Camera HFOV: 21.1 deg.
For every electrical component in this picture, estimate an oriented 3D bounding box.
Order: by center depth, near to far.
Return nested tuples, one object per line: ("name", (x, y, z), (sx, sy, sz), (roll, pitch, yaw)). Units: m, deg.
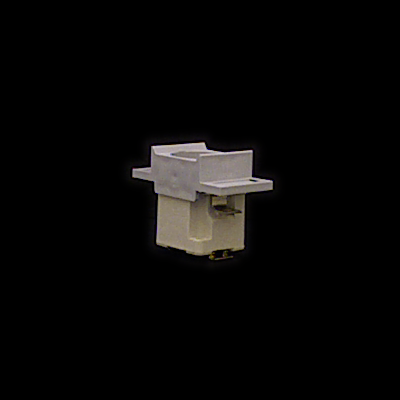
("electrical component", (0.000, 0.000, 0.645), (0.042, 0.064, 0.080), (-10, 15, -40))
